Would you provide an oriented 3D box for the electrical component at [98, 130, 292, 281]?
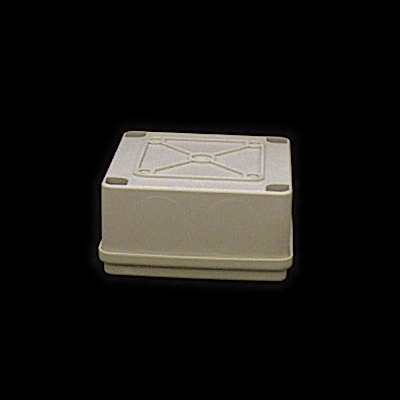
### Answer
[{"bbox_3d":[0.000,0.000,0.639,0.109,0.057,0.107,2,21,3],"label":"electrical component"}]
